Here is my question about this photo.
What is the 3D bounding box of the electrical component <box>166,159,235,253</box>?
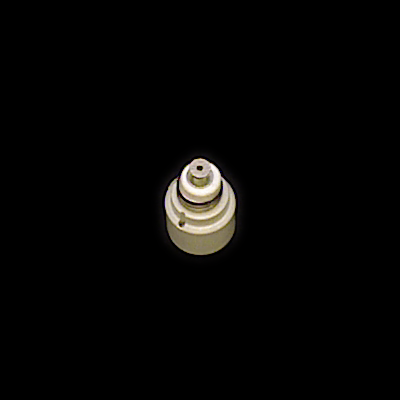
[{"bbox_3d":[0.000,0.000,0.619,0.040,0.040,0.078,0,-26,0],"label":"electrical component"}]
